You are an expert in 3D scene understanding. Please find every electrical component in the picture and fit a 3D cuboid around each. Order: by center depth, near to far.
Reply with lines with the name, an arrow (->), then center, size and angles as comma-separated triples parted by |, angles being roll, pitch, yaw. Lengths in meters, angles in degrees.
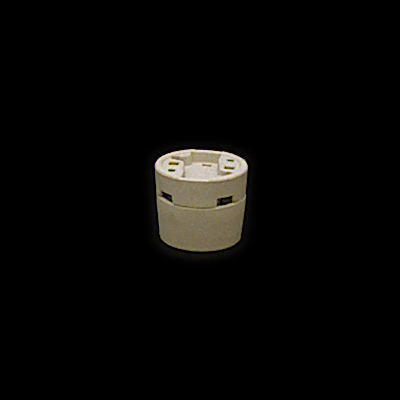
electrical component -> 0.000, 0.000, 0.640 | 0.055, 0.047, 0.055 | 1, 21, 0
